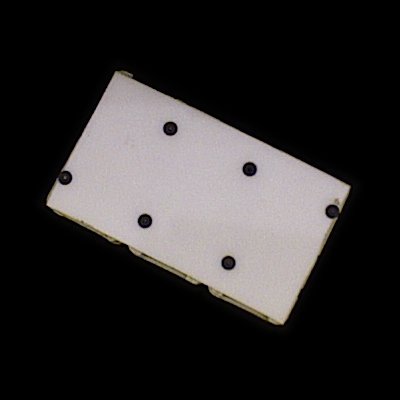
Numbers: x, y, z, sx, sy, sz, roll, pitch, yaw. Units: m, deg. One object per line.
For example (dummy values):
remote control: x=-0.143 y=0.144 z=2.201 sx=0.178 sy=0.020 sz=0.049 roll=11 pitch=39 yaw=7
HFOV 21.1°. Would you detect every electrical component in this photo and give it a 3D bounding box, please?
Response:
electrical component: x=0.000 y=0.000 z=0.631 sx=0.150 sy=0.089 sz=0.061 roll=27 pitch=-6 yaw=3
